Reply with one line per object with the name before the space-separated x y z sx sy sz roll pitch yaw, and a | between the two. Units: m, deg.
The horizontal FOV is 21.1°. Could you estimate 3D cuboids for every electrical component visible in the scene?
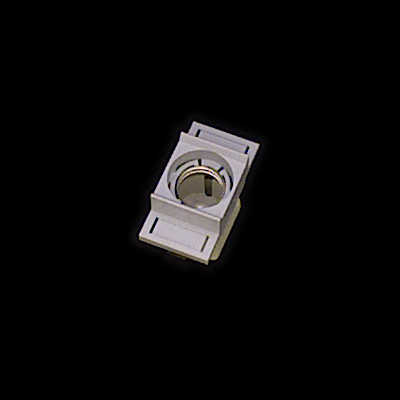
electrical component | 0.000 0.000 0.623 0.042 0.081 0.063 21 -26 9
